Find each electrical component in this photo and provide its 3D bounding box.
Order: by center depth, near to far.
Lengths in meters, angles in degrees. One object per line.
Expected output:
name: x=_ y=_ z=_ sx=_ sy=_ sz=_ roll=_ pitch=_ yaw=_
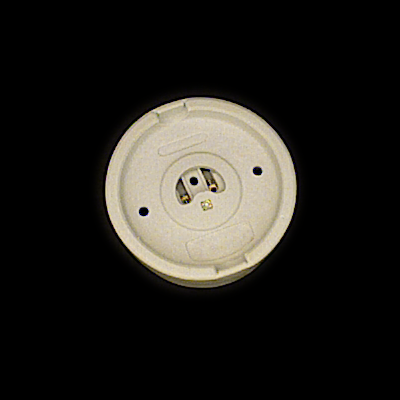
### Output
electrical component: x=0.000 y=0.000 z=0.633 sx=0.108 sy=0.108 sz=0.060 roll=0 pitch=-16 yaw=0
